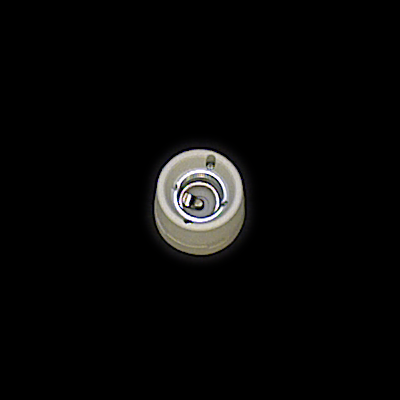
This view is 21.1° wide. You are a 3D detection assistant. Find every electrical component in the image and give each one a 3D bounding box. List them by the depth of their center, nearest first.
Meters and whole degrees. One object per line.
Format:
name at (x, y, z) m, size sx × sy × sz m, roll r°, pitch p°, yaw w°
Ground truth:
electrical component at (0.000, 0.000, 0.633) m, size 0.055 × 0.056 × 0.047 m, roll 0°, pitch -18°, yaw -1°
